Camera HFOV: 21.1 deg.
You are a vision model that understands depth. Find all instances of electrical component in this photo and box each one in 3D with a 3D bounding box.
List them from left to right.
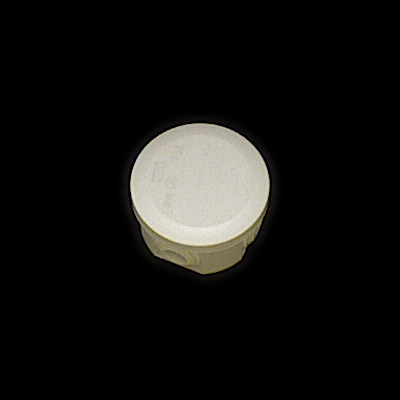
[{"bbox_3d":[0.000,0.000,0.631,0.080,0.080,0.050,0,-28,-1],"label":"electrical component"}]
